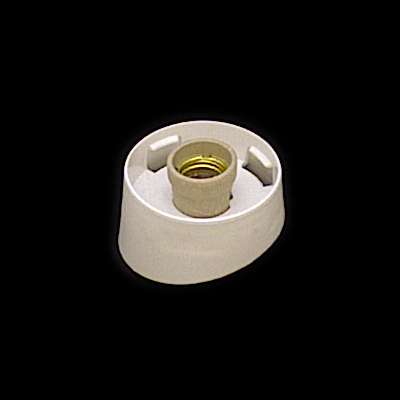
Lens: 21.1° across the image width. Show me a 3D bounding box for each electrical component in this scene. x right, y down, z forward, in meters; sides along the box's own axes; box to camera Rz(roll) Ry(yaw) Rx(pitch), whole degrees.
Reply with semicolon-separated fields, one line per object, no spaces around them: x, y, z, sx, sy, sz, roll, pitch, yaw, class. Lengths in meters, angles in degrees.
0.000;0.000;0.630;0.099;0.065;0.098;0;42;0;electrical component
